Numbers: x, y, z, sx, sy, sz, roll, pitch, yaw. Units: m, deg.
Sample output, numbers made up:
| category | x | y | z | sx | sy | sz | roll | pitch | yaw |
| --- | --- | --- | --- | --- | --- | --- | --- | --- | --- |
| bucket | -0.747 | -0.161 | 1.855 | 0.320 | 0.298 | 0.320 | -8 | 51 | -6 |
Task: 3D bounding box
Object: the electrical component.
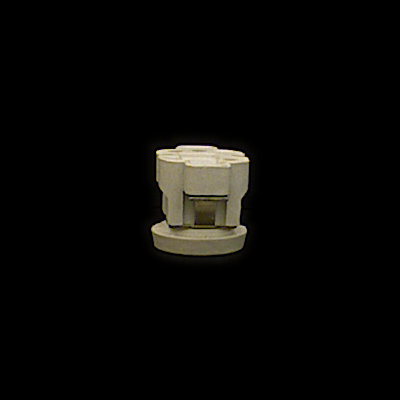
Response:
| category | x | y | z | sx | sy | sz | roll | pitch | yaw |
| --- | --- | --- | --- | --- | --- | --- | --- | --- | --- |
| electrical component | 0.000 | 0.000 | 0.650 | 0.058 | 0.057 | 0.077 | 0 | 13 | -8 |
